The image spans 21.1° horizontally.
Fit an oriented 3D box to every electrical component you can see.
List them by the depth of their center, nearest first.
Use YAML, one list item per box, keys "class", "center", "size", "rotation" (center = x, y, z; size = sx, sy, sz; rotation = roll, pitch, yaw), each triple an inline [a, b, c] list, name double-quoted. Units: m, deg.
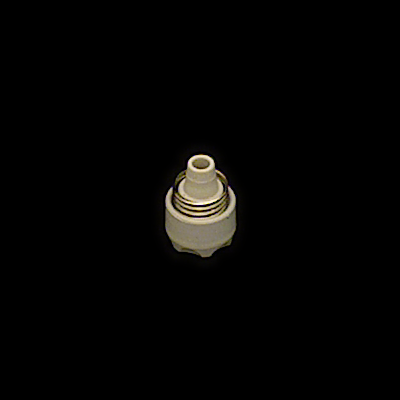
- class: "electrical component"
  center: [0.000, 0.000, 0.637]
  size: [0.043, 0.062, 0.043]
  rotation: [0, 44, 0]
